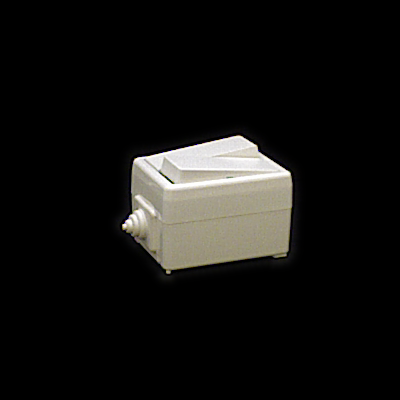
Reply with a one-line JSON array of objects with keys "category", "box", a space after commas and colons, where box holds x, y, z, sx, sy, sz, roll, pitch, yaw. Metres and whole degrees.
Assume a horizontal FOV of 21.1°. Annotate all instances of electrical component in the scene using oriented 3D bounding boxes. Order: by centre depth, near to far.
[{"category": "electrical component", "box": [0.000, 0.000, 0.638, 0.096, 0.061, 0.061, -7, 22, -21]}]
